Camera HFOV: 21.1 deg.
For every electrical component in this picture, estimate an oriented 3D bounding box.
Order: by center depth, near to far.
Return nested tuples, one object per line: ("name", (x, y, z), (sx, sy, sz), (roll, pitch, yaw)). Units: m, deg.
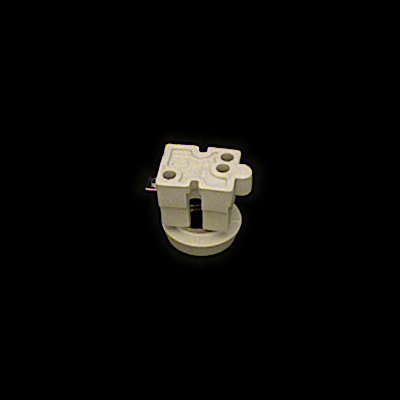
("electrical component", (0.000, 0.000, 0.641), (0.066, 0.056, 0.048), (6, 44, 7))
